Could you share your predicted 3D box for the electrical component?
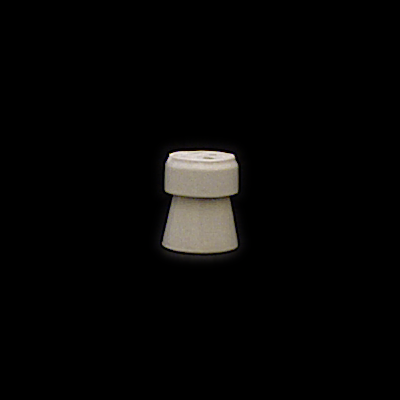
[{"bbox_3d":[0.000,0.000,0.643,0.045,0.055,0.044,1,12,0],"label":"electrical component"}]
